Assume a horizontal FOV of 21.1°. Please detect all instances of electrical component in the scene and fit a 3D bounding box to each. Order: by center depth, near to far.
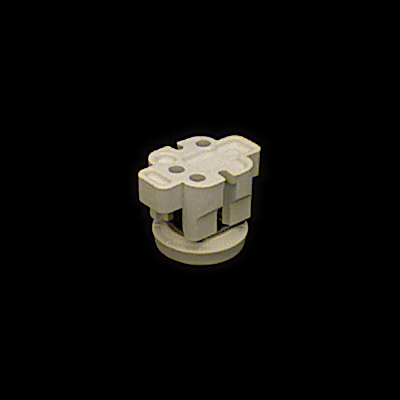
[{"bbox_3d":[0.000,0.000,0.644,0.079,0.057,0.057,-24,39,-36],"label":"electrical component"}]
